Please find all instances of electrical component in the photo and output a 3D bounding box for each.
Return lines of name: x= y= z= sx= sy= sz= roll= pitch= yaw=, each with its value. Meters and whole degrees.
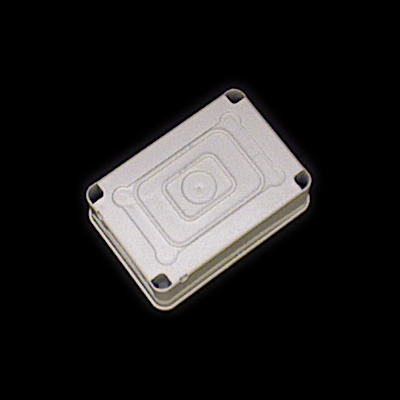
electrical component: x=0.000 y=0.000 z=0.628 sx=0.113 sy=0.078 sz=0.057 roll=-35 pitch=-14 yaw=-11
